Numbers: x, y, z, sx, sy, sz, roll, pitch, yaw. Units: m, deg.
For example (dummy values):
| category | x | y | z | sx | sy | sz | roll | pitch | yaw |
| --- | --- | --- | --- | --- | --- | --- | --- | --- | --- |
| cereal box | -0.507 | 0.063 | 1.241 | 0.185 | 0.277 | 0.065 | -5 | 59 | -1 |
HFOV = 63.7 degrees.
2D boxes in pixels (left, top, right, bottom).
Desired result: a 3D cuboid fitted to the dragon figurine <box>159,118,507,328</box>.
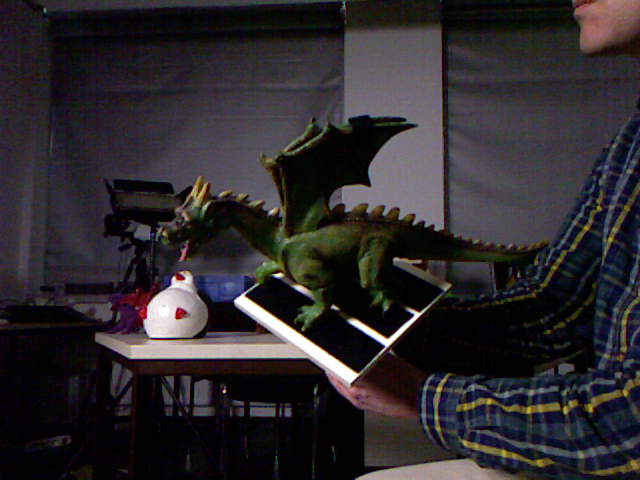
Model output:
| category | x | y | z | sx | sy | sz | roll | pitch | yaw |
| --- | --- | --- | --- | --- | --- | --- | --- | --- | --- |
| dragon figurine | 0.031 | -0.027 | 0.589 | 0.411 | 0.237 | 0.125 | -11 | 45 | -5 |
